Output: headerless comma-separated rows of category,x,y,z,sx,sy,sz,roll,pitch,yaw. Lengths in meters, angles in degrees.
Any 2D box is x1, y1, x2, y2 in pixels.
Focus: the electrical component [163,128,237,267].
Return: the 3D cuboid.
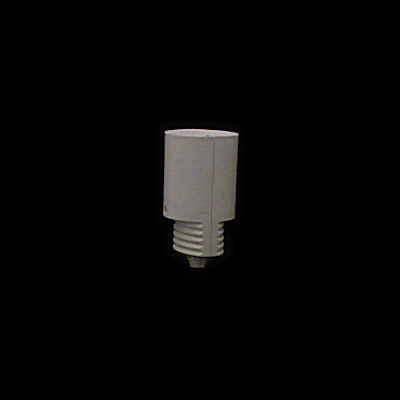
electrical component,0.000,0.000,0.641,0.043,0.082,0.042,1,12,0
